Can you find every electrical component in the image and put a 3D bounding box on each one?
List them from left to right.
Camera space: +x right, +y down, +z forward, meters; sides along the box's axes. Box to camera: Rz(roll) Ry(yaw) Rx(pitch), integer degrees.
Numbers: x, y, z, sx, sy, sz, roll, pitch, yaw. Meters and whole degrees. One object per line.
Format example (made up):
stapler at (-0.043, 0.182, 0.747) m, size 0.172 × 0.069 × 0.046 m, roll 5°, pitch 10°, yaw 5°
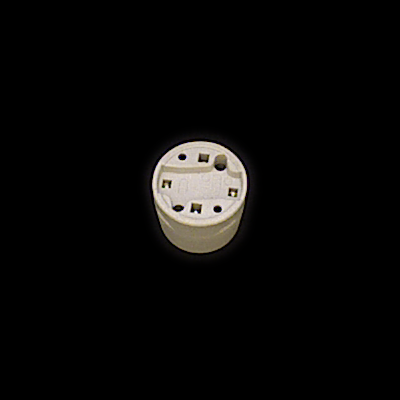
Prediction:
electrical component at (0.000, 0.000, 0.634) m, size 0.055 × 0.056 × 0.047 m, roll 0°, pitch -27°, yaw 0°
